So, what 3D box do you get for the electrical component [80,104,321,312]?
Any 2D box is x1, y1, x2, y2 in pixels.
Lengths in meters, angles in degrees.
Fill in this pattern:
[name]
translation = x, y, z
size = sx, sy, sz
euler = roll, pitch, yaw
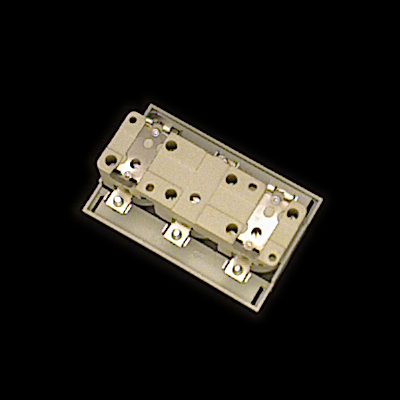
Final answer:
[electrical component]
translation = 0.000, 0.000, 0.635
size = 0.121, 0.079, 0.063
euler = 29, -14, 8
